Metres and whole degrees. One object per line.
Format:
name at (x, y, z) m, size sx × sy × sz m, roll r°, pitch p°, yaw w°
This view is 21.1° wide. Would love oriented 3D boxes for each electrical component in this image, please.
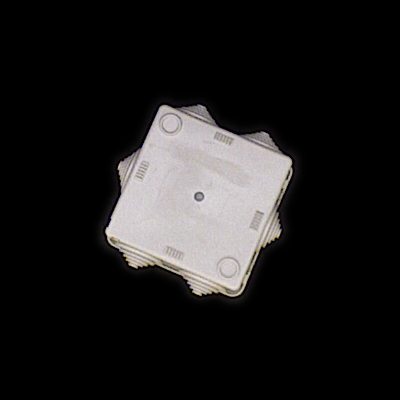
electrical component at (0.000, 0.000, 0.632) m, size 0.100 × 0.100 × 0.048 m, roll 23°, pitch -6°, yaw 2°
